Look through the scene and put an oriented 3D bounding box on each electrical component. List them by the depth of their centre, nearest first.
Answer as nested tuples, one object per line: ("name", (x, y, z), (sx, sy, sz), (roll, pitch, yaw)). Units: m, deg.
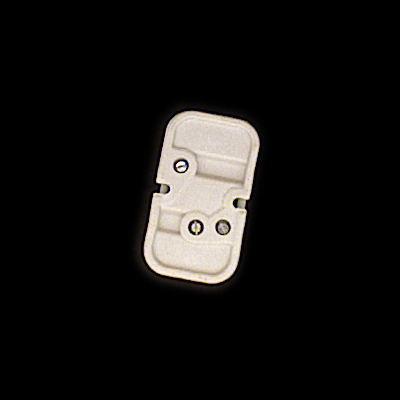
("electrical component", (0.000, 0.000, 0.637), (0.054, 0.095, 0.059), (10, -6, 2))
